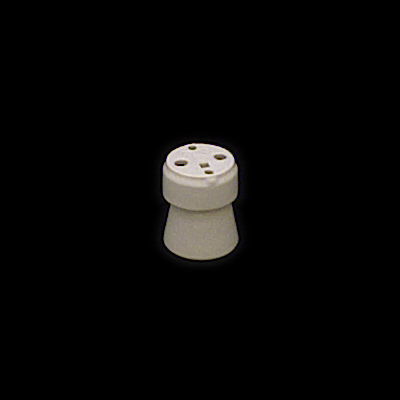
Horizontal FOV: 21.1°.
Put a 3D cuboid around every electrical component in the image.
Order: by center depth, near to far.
[{"bbox_3d":[0.000,0.000,0.635,0.045,0.056,0.044,0,31,0],"label":"electrical component"}]
